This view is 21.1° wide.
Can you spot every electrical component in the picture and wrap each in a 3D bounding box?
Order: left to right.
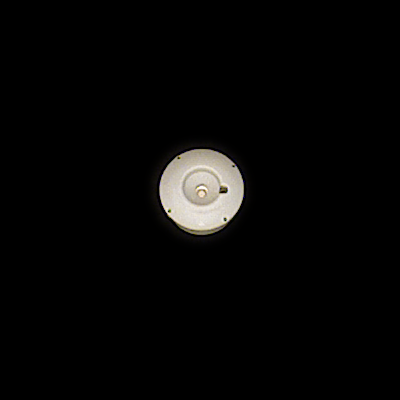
[{"bbox_3d":[0.000,0.000,0.634,0.048,0.048,0.062,0,-16,1],"label":"electrical component"}]
